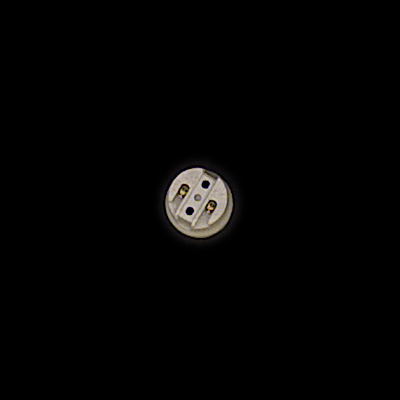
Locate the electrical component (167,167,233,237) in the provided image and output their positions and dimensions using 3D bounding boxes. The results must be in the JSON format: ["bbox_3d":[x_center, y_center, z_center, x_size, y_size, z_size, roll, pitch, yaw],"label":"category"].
[{"bbox_3d":[0.000,0.000,0.634,0.040,0.040,0.046,0,-7,0],"label":"electrical component"}]
